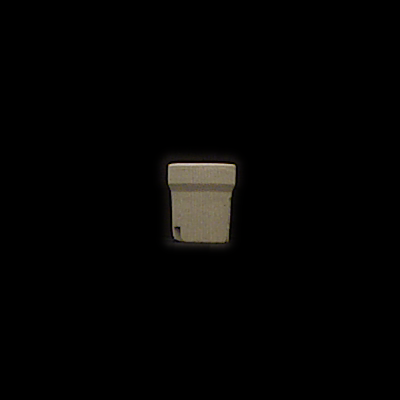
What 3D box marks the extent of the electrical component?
[{"bbox_3d":[0.000,0.000,0.649,0.040,0.046,0.040,1,1,1],"label":"electrical component"}]
